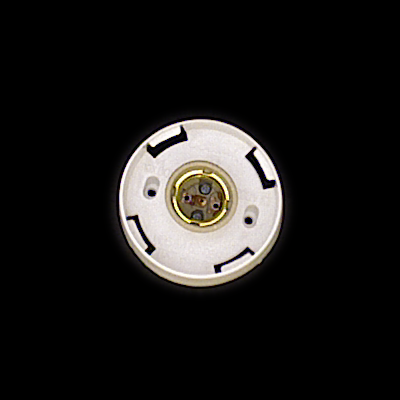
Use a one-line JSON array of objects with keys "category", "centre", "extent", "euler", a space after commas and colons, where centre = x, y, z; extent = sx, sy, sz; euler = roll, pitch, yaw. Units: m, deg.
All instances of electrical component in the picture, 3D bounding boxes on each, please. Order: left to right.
[{"category": "electrical component", "centre": [0.000, 0.000, 0.625], "extent": [0.099, 0.099, 0.064], "euler": [0, -7, 0]}]
